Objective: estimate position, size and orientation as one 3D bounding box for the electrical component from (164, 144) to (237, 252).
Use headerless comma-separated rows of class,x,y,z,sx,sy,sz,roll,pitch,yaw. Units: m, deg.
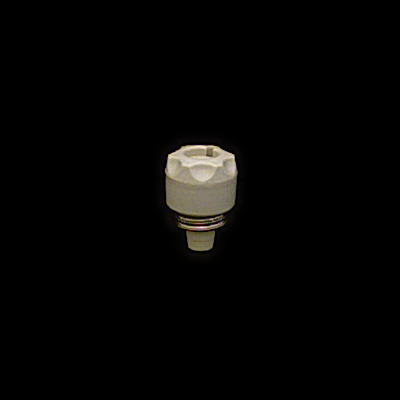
electrical component,0.000,0.000,0.645,0.043,0.063,0.043,1,23,0
